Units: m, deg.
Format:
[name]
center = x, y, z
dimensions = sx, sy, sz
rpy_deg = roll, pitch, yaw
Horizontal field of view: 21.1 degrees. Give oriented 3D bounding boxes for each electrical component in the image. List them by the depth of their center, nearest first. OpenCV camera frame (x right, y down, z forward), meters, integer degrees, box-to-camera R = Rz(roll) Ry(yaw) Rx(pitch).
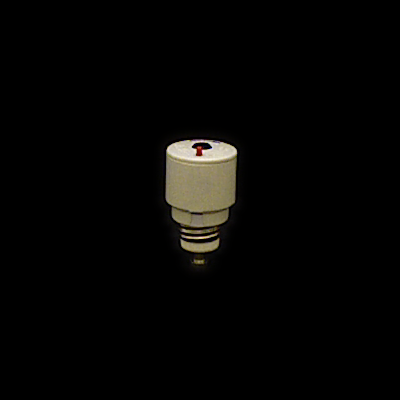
[electrical component]
center = 0.000, 0.000, 0.633
dimensions = 0.040, 0.079, 0.039
rpy_deg = 1, 22, 0
